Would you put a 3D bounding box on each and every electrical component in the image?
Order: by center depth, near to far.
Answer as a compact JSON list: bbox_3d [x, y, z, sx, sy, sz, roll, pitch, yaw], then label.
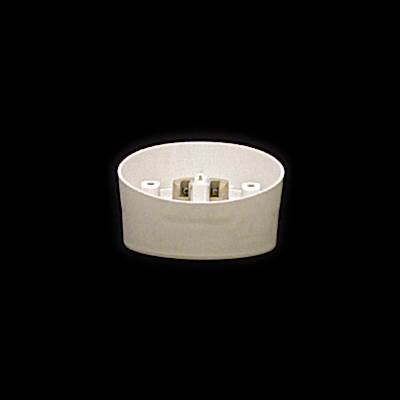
[{"bbox_3d":[0.000,0.000,0.644,0.099,0.064,0.098,1,9,0],"label":"electrical component"}]
